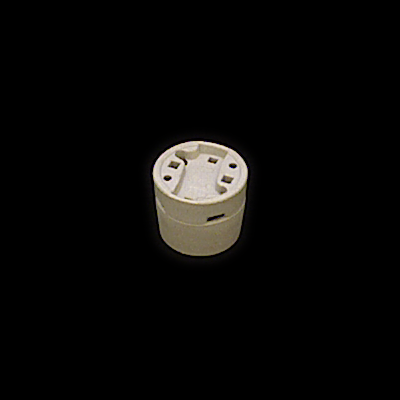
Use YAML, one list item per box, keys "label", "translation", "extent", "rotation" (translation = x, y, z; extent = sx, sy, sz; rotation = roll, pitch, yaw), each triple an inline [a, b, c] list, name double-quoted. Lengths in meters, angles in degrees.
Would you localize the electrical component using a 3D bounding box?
- label: "electrical component"
  translation: [0.000, 0.000, 0.635]
  extent: [0.055, 0.047, 0.055]
  rotation: [0, 42, 0]
